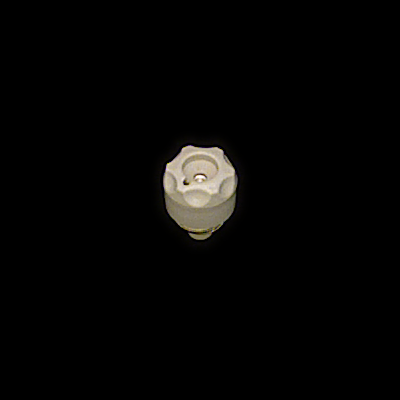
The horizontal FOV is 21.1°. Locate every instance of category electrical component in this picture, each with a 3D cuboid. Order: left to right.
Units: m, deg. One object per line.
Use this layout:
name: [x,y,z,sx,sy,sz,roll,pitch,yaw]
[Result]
electrical component: [0.000,0.000,0.636,0.043,0.043,0.062,0,-38,0]
